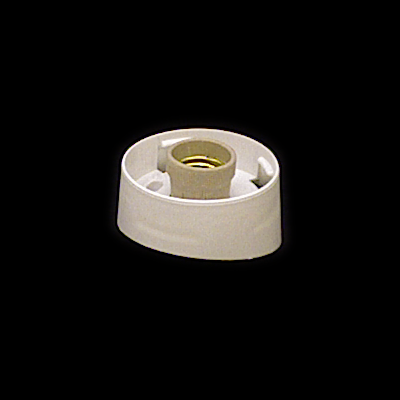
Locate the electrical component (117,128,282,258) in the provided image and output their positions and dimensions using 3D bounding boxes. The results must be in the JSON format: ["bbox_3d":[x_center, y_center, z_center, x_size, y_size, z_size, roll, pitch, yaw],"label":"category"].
[{"bbox_3d":[0.000,0.000,0.633,0.099,0.065,0.097,1,31,0],"label":"electrical component"}]
